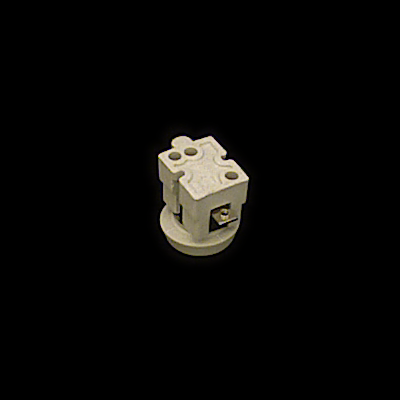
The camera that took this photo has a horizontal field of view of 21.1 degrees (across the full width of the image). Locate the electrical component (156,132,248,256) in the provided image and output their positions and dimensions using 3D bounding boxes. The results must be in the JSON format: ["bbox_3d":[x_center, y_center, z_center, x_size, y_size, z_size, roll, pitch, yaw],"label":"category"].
[{"bbox_3d":[0.000,0.000,0.640,0.049,0.056,0.065,-21,48,-23],"label":"electrical component"}]
